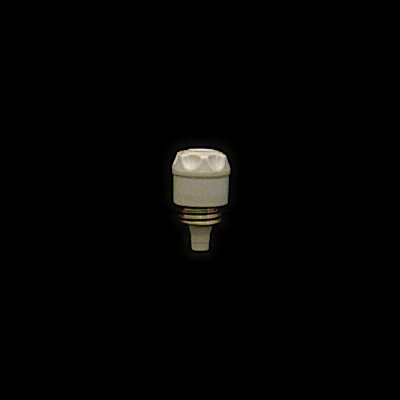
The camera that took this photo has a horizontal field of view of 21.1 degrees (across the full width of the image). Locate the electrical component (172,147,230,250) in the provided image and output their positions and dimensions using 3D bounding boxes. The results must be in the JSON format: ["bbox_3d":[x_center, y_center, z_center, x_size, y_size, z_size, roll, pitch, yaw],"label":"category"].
[{"bbox_3d":[0.000,0.000,0.653,0.035,0.062,0.035,1,12,0],"label":"electrical component"}]
